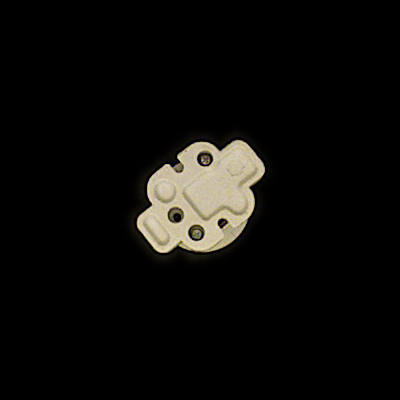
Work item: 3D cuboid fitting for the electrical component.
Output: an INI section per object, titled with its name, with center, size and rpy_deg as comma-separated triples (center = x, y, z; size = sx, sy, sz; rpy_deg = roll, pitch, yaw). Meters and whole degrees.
[electrical component]
center = 0.000, 0.000, 0.637
size = 0.079, 0.058, 0.056
rpy_deg = -39, -5, -4
